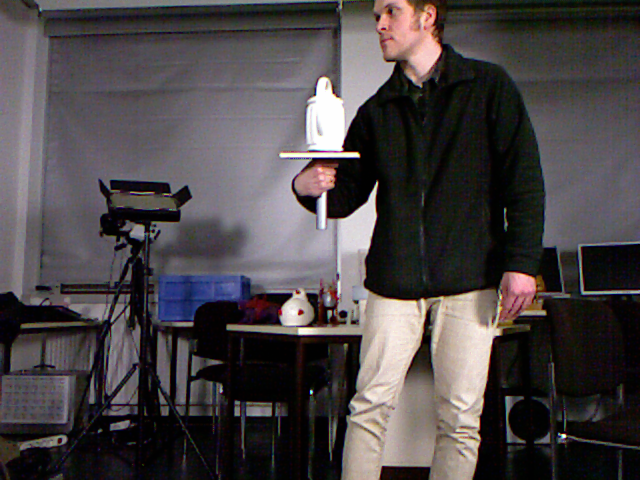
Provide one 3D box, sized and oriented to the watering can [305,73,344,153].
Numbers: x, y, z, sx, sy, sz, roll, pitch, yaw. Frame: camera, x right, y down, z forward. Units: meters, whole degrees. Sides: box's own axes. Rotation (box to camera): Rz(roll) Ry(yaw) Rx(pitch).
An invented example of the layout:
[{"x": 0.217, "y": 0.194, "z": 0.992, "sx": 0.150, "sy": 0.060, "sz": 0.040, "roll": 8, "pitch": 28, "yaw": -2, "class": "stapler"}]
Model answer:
[{"x": 0.020, "y": -0.345, "z": 1.453, "sx": 0.104, "sy": 0.223, "sz": 0.351, "roll": 3, "pitch": 9, "yaw": 7, "class": "watering can"}]
